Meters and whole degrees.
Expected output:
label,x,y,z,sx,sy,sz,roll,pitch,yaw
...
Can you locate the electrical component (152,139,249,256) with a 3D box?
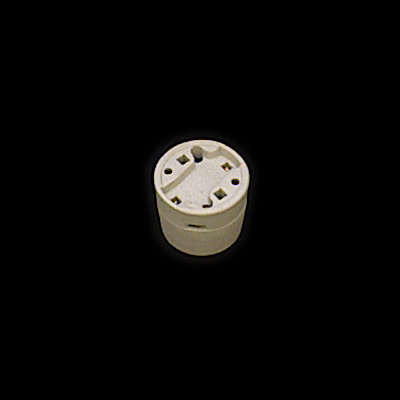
label,x,y,z,sx,sy,sz,roll,pitch,yaw
electrical component,0.000,0.000,0.633,0.055,0.055,0.047,0,-38,0
